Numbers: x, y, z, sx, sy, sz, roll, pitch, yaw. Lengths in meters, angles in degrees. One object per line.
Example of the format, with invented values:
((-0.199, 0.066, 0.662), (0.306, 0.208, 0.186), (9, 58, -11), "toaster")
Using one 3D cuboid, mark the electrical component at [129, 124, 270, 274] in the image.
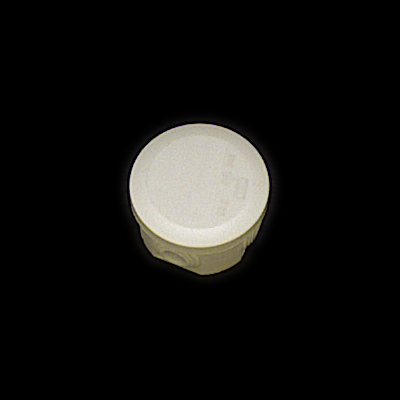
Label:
((0.000, 0.000, 0.629), (0.080, 0.080, 0.050), (0, -27, 0), "electrical component")
